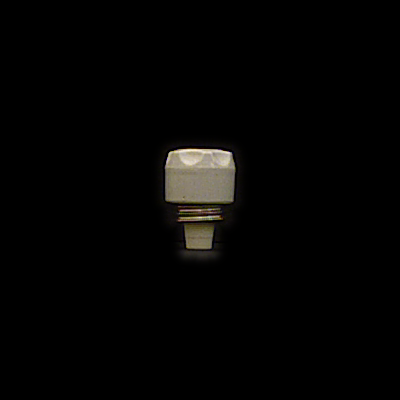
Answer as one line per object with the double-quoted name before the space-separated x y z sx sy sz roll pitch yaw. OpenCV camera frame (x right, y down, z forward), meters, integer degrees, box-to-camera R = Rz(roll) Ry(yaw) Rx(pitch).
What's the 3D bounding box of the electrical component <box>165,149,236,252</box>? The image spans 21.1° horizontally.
"electrical component" 0.000 0.000 0.656 0.043 0.062 0.043 1 2 0
